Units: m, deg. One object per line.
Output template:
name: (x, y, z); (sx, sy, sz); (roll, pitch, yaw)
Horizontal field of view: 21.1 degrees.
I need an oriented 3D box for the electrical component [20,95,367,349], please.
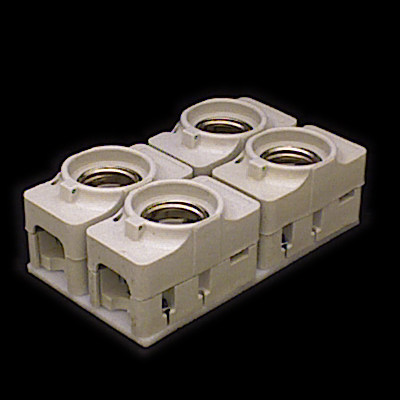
electrical component: (0.000, 0.000, 0.633); (0.185, 0.061, 0.104); (-27, 41, -37)
